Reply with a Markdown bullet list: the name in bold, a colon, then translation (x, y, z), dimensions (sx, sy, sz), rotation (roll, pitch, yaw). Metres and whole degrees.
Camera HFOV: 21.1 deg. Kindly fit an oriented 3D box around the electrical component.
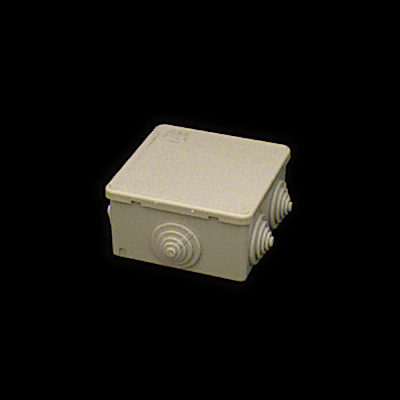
- **electrical component**: translation (0.000, 0.000, 0.645), dimensions (0.099, 0.049, 0.099), rotation (11, 34, 16)
